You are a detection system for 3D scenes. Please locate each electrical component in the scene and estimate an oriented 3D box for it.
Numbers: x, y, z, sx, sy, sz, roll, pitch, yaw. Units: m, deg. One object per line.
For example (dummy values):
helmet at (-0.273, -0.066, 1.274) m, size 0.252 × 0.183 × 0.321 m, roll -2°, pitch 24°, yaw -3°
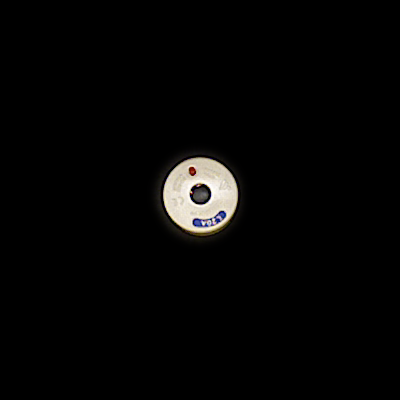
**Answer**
electrical component at (0.000, 0.000, 0.618) m, size 0.040 × 0.040 × 0.078 m, roll 0°, pitch -6°, yaw 1°
